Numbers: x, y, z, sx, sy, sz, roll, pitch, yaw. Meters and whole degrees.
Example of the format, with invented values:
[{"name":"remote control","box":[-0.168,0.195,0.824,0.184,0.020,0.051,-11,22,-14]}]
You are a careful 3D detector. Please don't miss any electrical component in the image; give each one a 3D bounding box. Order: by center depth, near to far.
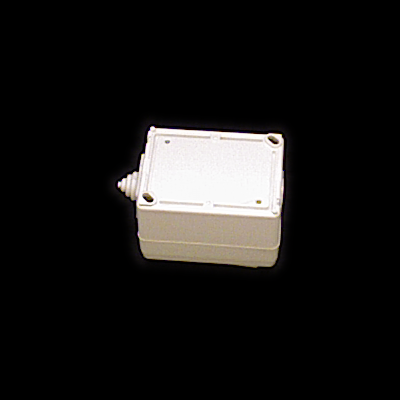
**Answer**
[{"name":"electrical component","box":[0.000,0.000,0.631,0.096,0.061,0.061,3,-38,3]}]
